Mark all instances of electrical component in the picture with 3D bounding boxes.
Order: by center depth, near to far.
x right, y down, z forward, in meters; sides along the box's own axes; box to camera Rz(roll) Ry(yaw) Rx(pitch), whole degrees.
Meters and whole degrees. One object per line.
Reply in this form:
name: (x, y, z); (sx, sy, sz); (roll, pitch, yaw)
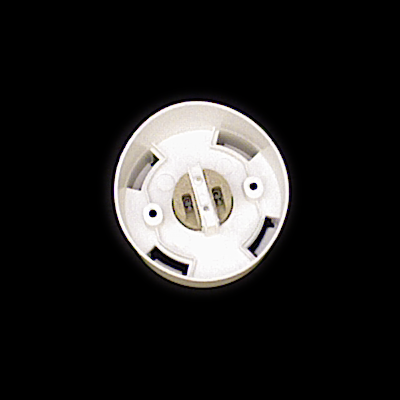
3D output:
electrical component: (0.000, 0.000, 0.623); (0.099, 0.099, 0.064); (0, -17, 1)
